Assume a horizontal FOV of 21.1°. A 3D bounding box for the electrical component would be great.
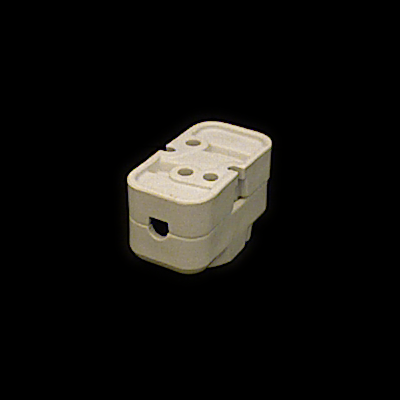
[{"bbox_3d":[0.000,0.000,0.642,0.053,0.060,0.095,18,36,25],"label":"electrical component"}]
